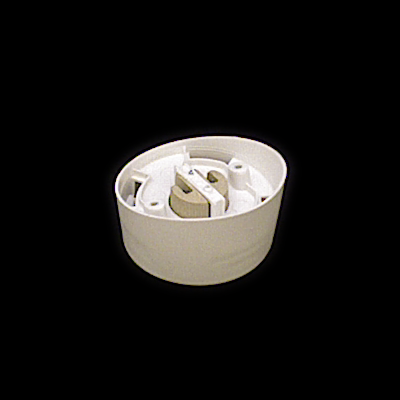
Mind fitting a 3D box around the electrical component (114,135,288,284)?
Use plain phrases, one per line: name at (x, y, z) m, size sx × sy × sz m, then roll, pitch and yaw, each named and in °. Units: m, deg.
electrical component at (0.000, 0.000, 0.629) m, size 0.099 × 0.065 × 0.098 m, roll 1°, pitch 42°, yaw -1°
